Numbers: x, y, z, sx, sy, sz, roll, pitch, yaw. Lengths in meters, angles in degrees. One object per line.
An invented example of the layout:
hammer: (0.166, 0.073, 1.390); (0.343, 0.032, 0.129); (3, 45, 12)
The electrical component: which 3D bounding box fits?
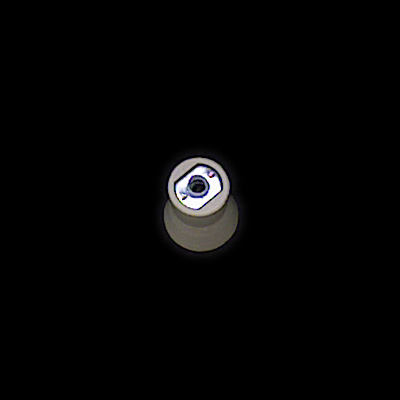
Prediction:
electrical component: (0.000, 0.000, 0.625); (0.044, 0.044, 0.065); (0, -17, 1)
